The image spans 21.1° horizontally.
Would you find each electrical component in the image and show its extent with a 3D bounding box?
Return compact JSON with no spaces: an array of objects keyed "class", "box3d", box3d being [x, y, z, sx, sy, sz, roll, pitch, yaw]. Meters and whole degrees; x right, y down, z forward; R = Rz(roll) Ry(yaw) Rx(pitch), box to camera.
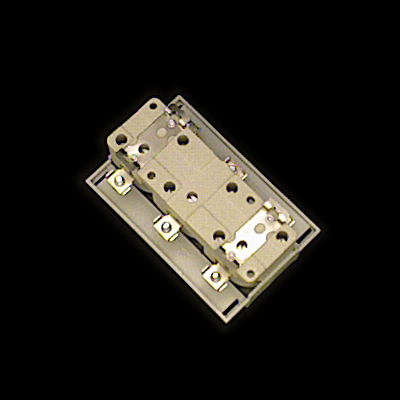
[{"class":"electrical component","box3d":[0.000,0.000,0.634,0.079,0.121,0.063,-43,-12,-12]}]
